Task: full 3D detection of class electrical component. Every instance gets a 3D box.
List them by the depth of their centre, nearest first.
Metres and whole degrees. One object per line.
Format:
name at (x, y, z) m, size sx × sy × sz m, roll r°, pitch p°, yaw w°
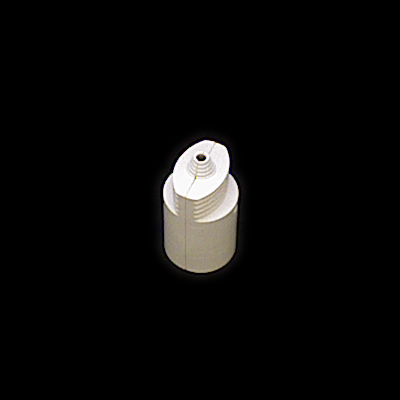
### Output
electrical component at (0.000, 0.000, 0.619) m, size 0.043 × 0.043 × 0.081 m, roll 0°, pitch -38°, yaw 0°
